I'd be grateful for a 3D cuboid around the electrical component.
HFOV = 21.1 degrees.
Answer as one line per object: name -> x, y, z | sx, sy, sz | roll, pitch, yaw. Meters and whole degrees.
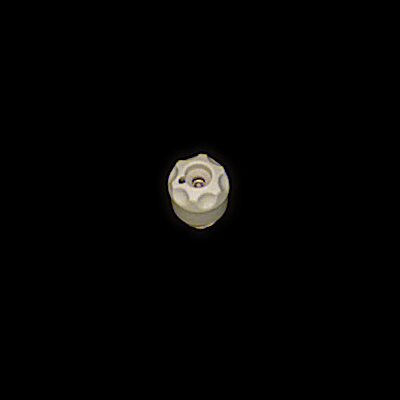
electrical component -> 0.000, 0.000, 0.634 | 0.035, 0.035, 0.061 | 0, -27, 1
